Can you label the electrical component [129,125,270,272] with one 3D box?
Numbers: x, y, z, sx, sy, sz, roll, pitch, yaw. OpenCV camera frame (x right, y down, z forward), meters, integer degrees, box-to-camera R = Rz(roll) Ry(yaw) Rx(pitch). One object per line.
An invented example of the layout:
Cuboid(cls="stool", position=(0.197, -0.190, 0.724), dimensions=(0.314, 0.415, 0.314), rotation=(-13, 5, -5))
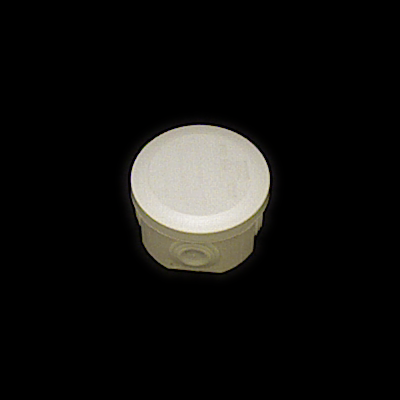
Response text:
Cuboid(cls="electrical component", position=(0.000, 0.000, 0.630), dimensions=(0.080, 0.080, 0.051), rotation=(0, -38, 0))
